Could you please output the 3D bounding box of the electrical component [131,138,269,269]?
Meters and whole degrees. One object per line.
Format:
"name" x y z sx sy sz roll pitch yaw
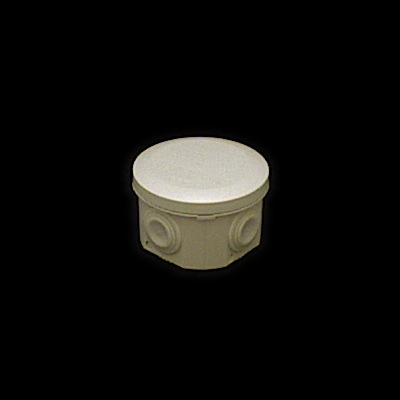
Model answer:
"electrical component" 0.000 0.000 0.637 0.080 0.051 0.079 1 31 0
